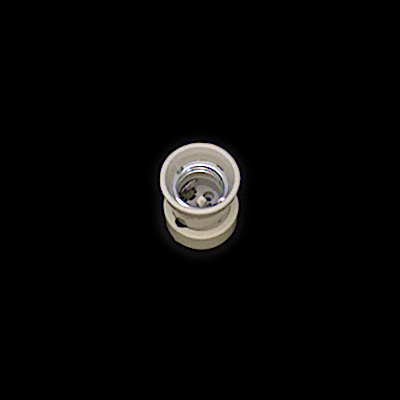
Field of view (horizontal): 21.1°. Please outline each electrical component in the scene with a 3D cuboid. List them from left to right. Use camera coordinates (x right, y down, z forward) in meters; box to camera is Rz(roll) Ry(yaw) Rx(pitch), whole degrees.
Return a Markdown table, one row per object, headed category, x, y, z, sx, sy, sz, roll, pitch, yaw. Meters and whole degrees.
| category | x | y | z | sx | sy | sz | roll | pitch | yaw |
| --- | --- | --- | --- | --- | --- | --- | --- | --- | --- |
| electrical component | 0.000 | 0.000 | 0.628 | 0.045 | 0.045 | 0.055 | 0 | -28 | 0 |
